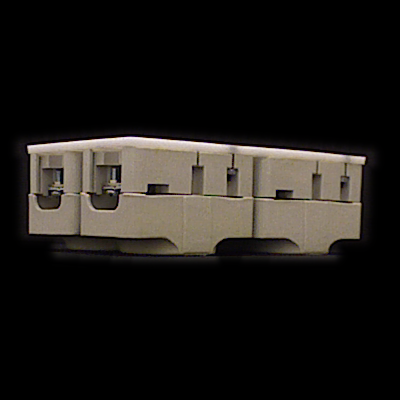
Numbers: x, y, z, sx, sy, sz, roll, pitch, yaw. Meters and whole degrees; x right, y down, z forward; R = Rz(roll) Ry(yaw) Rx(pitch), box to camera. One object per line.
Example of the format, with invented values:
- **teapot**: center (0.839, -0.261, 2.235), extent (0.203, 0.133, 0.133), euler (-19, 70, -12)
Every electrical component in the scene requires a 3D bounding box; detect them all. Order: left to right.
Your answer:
- **electrical component**: center (0.000, 0.000, 0.650), extent (0.187, 0.060, 0.105), euler (2, -1, -40)
